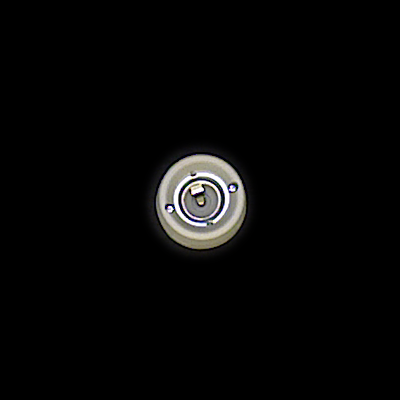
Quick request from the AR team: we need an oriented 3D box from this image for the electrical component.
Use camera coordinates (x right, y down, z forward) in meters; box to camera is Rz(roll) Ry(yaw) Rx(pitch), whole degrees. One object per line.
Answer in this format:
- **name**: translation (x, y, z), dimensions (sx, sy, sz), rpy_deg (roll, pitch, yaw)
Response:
- **electrical component**: translation (0.000, 0.000, 0.634), dimensions (0.055, 0.055, 0.047), rpy_deg (0, -7, -1)
